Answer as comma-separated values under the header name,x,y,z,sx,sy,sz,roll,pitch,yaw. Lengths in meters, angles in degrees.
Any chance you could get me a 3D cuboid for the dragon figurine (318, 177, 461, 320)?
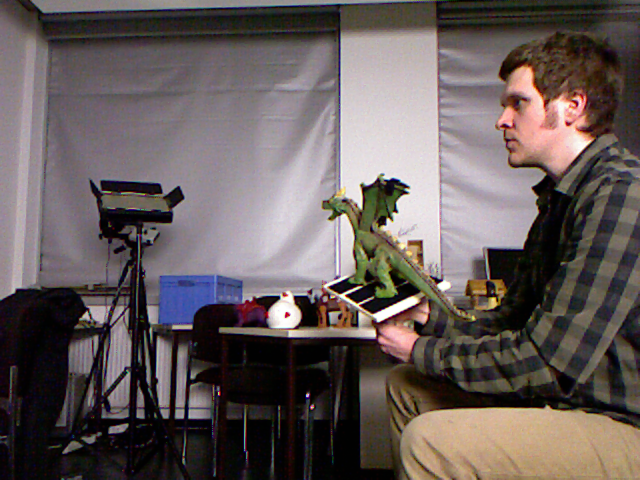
name,x,y,z,sx,sy,sz,roll,pitch,yaw
dragon figurine,0.140,-0.010,1.097,0.124,0.239,0.415,-24,30,-32
